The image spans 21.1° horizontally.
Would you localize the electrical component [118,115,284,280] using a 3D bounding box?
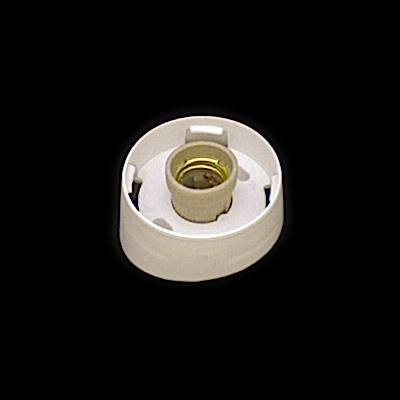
[{"bbox_3d":[0.000,0.000,0.627,0.099,0.098,0.064,0,-38,0],"label":"electrical component"}]
